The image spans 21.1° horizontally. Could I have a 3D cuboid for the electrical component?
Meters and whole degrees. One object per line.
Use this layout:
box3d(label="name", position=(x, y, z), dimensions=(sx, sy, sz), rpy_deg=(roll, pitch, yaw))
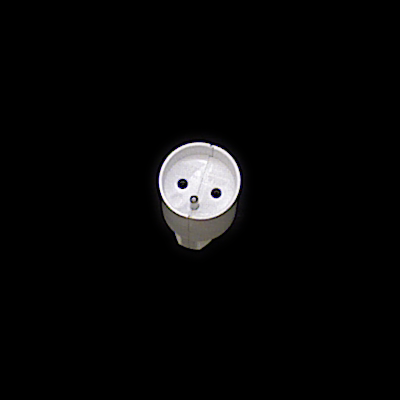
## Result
box3d(label="electrical component", position=(0.000, 0.000, 0.614), dimensions=(0.043, 0.043, 0.080), rpy_deg=(0, -16, 1))
